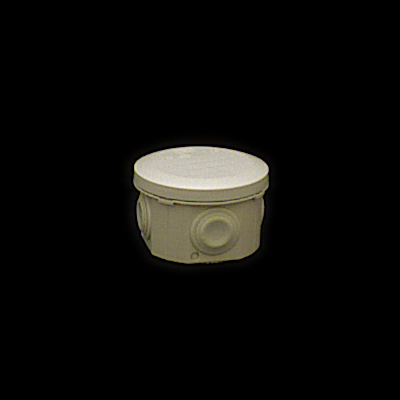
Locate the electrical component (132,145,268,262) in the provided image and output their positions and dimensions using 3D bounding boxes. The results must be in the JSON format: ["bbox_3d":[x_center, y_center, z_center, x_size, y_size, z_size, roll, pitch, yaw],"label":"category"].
[{"bbox_3d":[0.000,0.000,0.642,0.080,0.051,0.079,1,21,0],"label":"electrical component"}]
